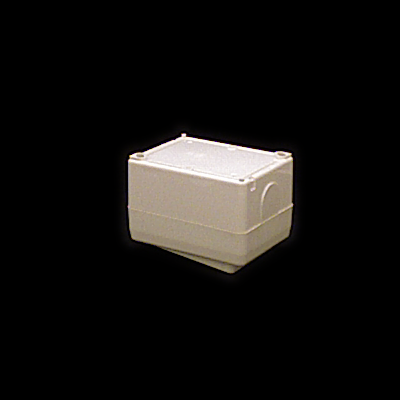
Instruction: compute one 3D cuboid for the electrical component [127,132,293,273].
[{"bbox_3d":[0.000,0.000,0.642,0.096,0.061,0.061,13,24,29],"label":"electrical component"}]
